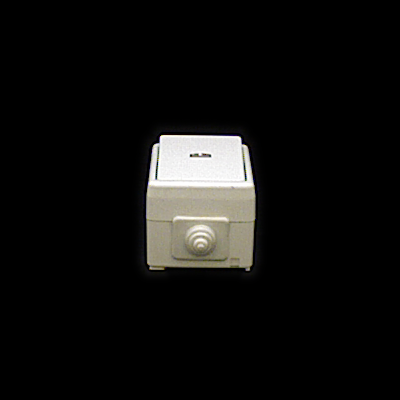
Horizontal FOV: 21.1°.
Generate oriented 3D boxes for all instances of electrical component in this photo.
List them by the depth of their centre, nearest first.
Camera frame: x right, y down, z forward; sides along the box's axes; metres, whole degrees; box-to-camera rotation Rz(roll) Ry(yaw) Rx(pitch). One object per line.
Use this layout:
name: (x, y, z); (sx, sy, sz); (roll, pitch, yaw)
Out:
electrical component: (0.000, 0.000, 0.636); (0.062, 0.061, 0.095); (1, 21, -1)
